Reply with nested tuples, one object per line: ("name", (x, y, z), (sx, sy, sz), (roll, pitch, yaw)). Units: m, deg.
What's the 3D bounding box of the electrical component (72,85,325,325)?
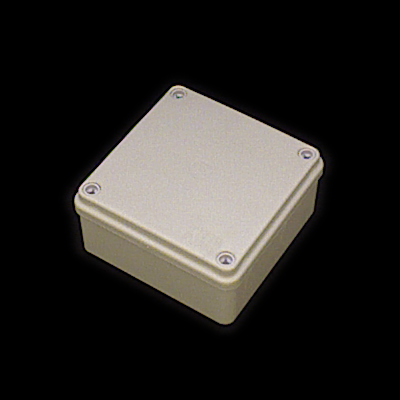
("electrical component", (0.000, 0.000, 0.631), (0.108, 0.108, 0.056), (27, -34, 19))
